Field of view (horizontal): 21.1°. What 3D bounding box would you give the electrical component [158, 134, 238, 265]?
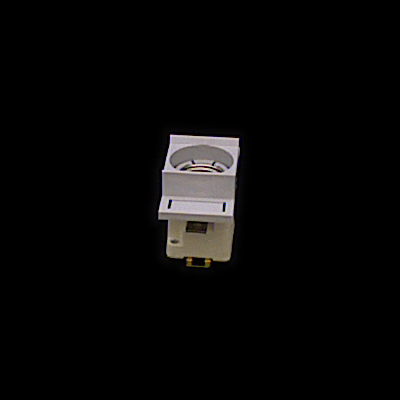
[{"bbox_3d":[0.000,0.000,0.635,0.042,0.065,0.079,2,32,5],"label":"electrical component"}]
